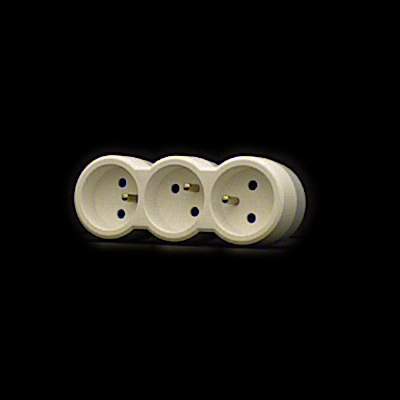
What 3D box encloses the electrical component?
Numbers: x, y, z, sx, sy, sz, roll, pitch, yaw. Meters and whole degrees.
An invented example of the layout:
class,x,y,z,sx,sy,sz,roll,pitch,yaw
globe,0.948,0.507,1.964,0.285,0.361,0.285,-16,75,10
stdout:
class,x,y,z,sx,sy,sz,roll,pitch,yaw
electrical component,0.000,0.000,0.659,0.137,0.052,0.074,2,0,25
